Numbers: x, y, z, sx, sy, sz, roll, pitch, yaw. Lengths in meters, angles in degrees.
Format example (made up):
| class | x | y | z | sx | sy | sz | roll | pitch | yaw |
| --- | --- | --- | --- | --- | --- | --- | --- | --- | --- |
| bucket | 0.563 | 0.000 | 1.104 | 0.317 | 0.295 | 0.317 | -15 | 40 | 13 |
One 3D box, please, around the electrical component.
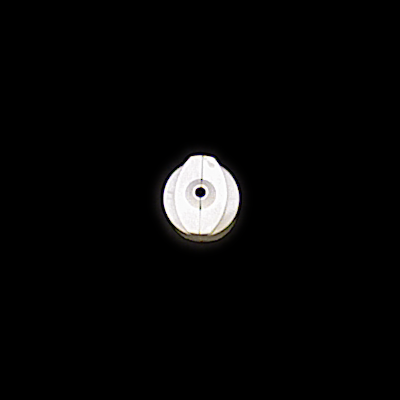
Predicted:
| class | x | y | z | sx | sy | sz | roll | pitch | yaw |
| --- | --- | --- | --- | --- | --- | --- | --- | --- | --- |
| electrical component | 0.000 | 0.000 | 0.616 | 0.043 | 0.043 | 0.080 | 0 | -6 | 1 |
